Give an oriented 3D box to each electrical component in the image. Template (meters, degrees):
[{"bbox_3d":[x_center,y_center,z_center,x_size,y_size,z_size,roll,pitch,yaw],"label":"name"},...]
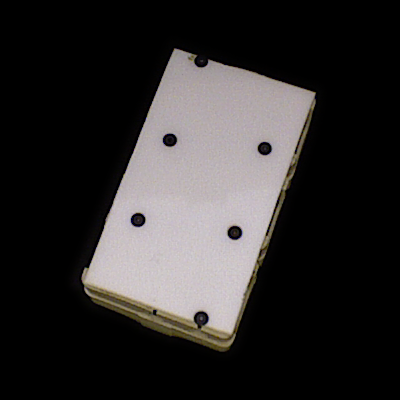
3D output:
[{"bbox_3d":[0.000,0.000,0.629,0.089,0.150,0.062,19,-15,6],"label":"electrical component"}]
